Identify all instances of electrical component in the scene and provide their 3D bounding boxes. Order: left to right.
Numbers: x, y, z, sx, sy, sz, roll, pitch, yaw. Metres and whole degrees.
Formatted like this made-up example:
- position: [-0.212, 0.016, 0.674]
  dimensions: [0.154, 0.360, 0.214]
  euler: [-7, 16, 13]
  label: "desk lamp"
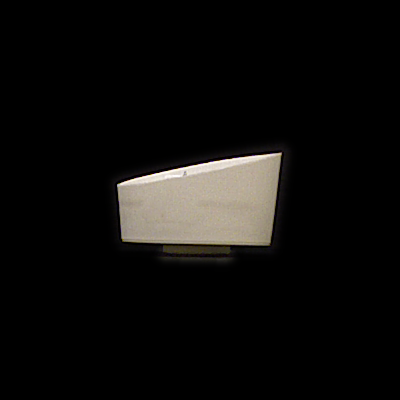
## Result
- position: [0.000, 0.000, 0.650]
  dimensions: [0.099, 0.064, 0.099]
  euler: [2, -1, 0]
  label: "electrical component"
